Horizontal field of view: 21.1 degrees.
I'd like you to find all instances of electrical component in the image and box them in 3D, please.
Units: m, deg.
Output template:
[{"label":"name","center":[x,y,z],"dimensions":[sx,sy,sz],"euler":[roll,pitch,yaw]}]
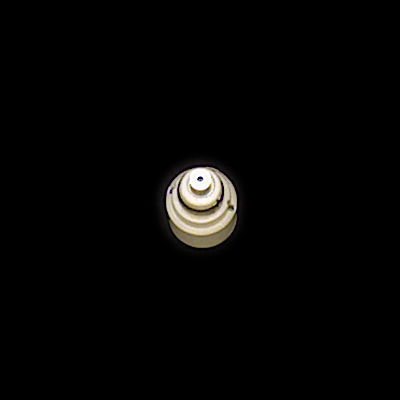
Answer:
[{"label":"electrical component","center":[0.000,0.000,0.617],"dimensions":[0.040,0.040,0.078],"euler":[0,-16,2]}]
